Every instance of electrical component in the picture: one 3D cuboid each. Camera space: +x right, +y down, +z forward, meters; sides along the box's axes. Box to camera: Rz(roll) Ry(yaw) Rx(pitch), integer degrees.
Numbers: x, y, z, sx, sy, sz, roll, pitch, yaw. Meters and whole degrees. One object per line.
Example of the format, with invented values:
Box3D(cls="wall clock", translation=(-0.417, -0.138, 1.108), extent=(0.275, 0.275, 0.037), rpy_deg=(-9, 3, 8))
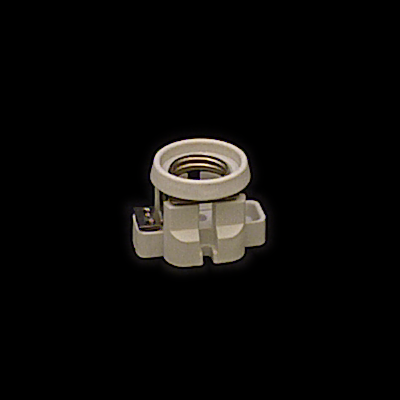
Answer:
Box3D(cls="electrical component", translation=(0.000, 0.000, 0.634), extent=(0.079, 0.057, 0.057), rpy_deg=(-6, 32, -11))
